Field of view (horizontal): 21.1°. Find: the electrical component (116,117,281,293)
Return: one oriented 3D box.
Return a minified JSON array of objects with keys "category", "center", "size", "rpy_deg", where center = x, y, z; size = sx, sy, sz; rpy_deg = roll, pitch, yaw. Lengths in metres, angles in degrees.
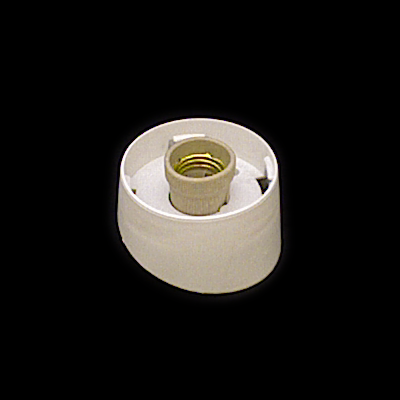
[{"category":"electrical component","center":[0.000,0.000,0.629],"size":[0.099,0.064,0.098],"rpy_deg":[1,42,-1]}]
